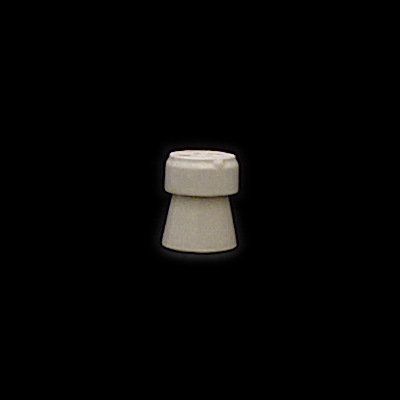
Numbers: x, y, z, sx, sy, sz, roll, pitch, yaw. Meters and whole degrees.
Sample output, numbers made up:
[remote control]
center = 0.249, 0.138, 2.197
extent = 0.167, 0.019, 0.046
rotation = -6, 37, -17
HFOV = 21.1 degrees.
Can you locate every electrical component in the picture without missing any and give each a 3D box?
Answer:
[electrical component]
center = 0.000, 0.000, 0.645
extent = 0.045, 0.055, 0.044
rotation = 2, 11, 0
